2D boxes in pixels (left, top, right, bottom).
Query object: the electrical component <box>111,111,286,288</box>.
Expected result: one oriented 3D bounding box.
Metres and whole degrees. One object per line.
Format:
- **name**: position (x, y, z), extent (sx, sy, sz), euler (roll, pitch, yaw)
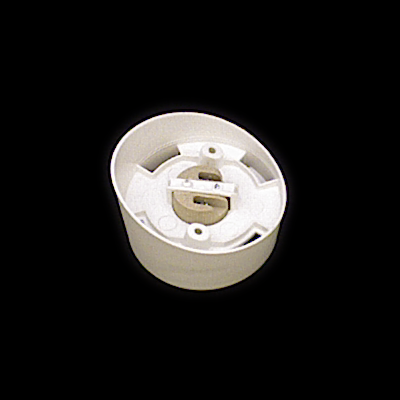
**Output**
- **electrical component**: position (0.000, 0.000, 0.625), extent (0.099, 0.098, 0.064), euler (0, -37, 0)
